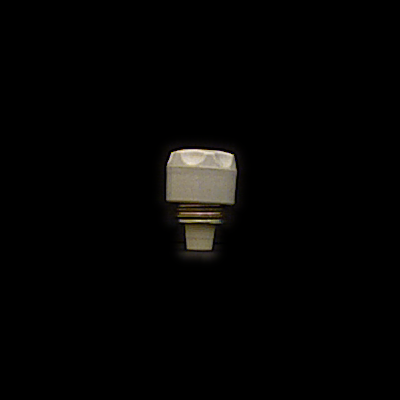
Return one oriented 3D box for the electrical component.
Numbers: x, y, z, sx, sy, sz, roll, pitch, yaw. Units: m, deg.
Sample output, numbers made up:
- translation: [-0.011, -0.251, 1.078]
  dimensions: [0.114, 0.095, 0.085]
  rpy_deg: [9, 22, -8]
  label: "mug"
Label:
- translation: [0.000, 0.000, 0.657]
  dimensions: [0.043, 0.062, 0.043]
  rpy_deg: [2, 2, 0]
  label: "electrical component"
